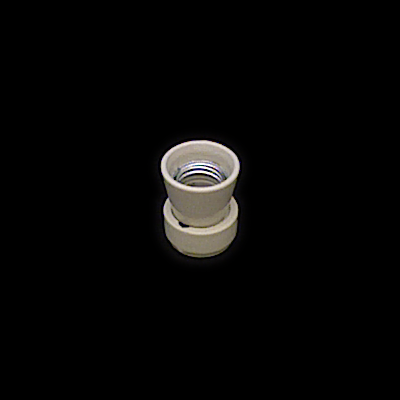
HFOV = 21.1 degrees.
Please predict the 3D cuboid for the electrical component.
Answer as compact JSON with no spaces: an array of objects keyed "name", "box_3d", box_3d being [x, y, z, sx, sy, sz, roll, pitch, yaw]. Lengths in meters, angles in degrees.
[{"name":"electrical component","box_3d":[0.000,0.000,0.631,0.045,0.055,0.044,0,41,0]}]
